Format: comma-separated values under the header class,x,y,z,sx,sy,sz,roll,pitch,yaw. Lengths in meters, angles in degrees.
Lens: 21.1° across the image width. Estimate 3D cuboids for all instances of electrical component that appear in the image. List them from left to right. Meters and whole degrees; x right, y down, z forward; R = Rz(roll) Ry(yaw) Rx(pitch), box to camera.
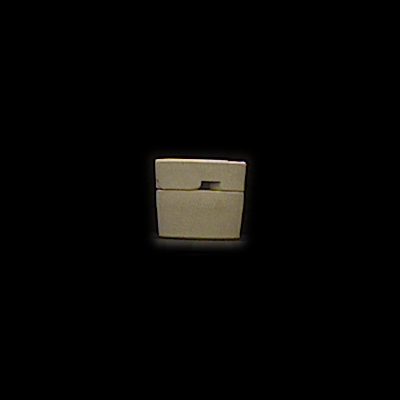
class,x,y,z,sx,sy,sz,roll,pitch,yaw
electrical component,0.000,0.000,0.650,0.055,0.047,0.055,1,1,0
